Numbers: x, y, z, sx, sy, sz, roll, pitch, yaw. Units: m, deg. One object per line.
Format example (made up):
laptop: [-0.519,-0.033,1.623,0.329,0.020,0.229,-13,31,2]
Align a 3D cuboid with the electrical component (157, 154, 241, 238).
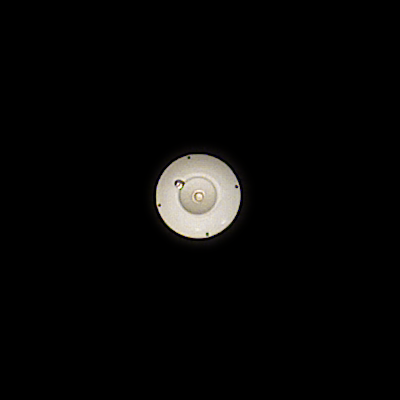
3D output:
electrical component: [0.000,0.000,0.634,0.048,0.048,0.061,0,-6,1]
